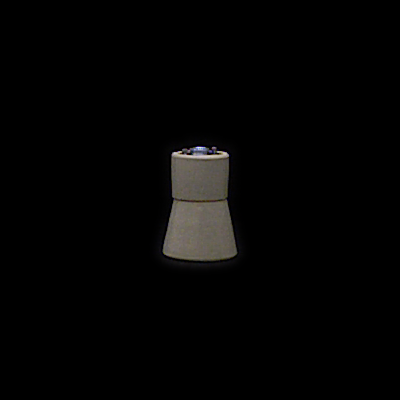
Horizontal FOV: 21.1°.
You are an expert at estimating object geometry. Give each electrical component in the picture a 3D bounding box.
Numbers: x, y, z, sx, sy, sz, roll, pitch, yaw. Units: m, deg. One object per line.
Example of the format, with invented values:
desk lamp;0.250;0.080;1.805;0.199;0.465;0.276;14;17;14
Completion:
electrical component;0.000;0.000;0.646;0.044;0.066;0.044;0;10;0
